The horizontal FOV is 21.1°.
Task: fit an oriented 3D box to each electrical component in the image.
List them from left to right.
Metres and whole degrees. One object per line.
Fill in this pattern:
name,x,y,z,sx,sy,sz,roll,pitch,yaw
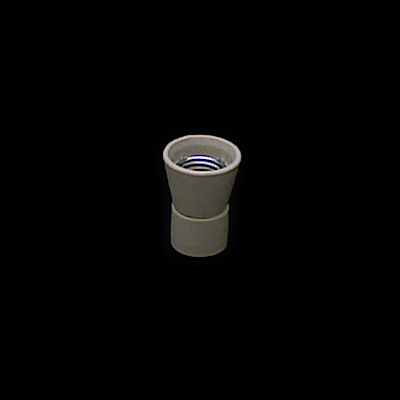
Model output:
electrical component,0.000,0.000,0.632,0.044,0.066,0.044,1,32,-1
